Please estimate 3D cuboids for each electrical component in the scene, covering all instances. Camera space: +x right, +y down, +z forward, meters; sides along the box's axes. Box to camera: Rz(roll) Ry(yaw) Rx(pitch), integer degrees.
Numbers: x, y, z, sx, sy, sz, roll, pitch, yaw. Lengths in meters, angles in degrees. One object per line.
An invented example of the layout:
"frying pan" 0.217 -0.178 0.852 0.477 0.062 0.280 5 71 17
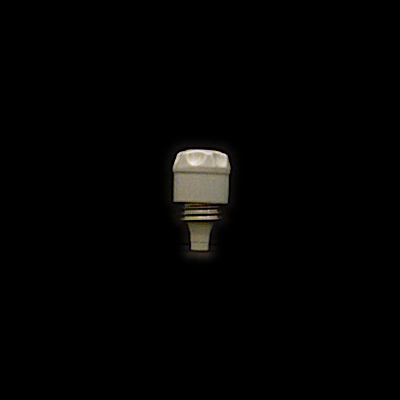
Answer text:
"electrical component" 0.000 0.000 0.658 0.035 0.061 0.035 2 2 0
